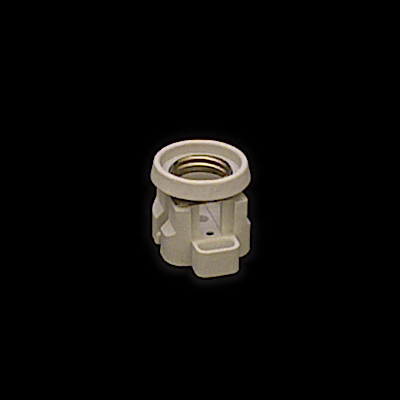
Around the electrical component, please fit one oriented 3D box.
[{"bbox_3d":[0.000,0.000,0.636,0.058,0.057,0.077,-9,33,-15],"label":"electrical component"}]
